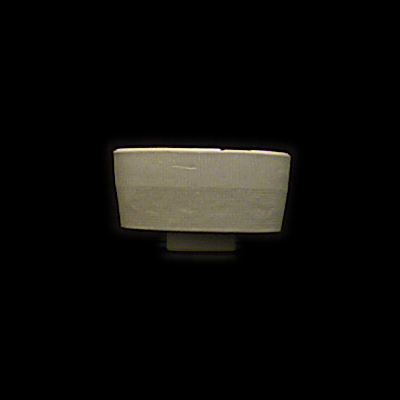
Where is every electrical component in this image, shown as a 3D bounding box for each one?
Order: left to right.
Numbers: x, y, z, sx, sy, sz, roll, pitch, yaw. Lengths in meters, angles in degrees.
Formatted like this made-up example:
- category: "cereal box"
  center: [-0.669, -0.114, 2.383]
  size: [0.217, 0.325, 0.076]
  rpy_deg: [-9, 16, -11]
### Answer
- category: "electrical component"
  center: [0.000, 0.000, 0.658]
  size: [0.108, 0.060, 0.108]
  rpy_deg: [2, 1, 1]
